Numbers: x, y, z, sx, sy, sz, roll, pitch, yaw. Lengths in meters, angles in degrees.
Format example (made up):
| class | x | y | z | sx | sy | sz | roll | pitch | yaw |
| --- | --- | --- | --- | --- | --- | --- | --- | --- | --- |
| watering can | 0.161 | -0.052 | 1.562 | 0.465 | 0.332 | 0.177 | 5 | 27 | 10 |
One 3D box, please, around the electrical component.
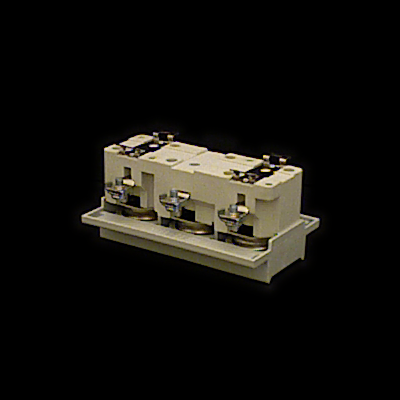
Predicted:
| class | x | y | z | sx | sy | sz | roll | pitch | yaw |
| --- | --- | --- | --- | --- | --- | --- | --- | --- | --- |
| electrical component | 0.000 | 0.000 | 0.649 | 0.120 | 0.064 | 0.078 | 14 | 24 | 29 |
